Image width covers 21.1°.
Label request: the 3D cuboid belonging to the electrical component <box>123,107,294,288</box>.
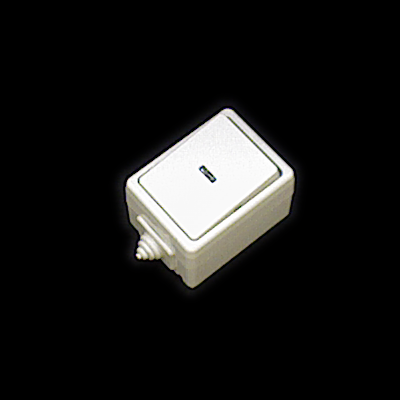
[{"bbox_3d":[0.000,0.000,0.625,0.096,0.061,0.061,-37,-22,-17],"label":"electrical component"}]
